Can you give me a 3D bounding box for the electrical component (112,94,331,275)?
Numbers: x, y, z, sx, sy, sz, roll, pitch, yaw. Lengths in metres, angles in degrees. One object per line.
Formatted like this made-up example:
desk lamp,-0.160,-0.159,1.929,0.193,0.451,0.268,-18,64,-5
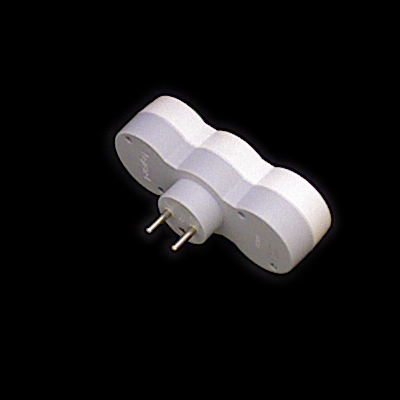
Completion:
electrical component,0.000,0.000,0.631,0.138,0.074,0.052,34,-28,22
